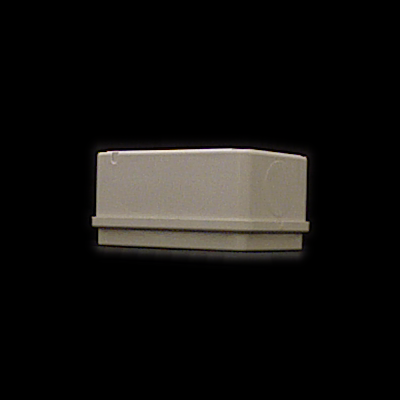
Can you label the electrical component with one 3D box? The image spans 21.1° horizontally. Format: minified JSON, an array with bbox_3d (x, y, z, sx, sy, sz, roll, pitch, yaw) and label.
[{"bbox_3d":[0.000,0.000,0.650,0.113,0.057,0.078,2,0,35],"label":"electrical component"}]
